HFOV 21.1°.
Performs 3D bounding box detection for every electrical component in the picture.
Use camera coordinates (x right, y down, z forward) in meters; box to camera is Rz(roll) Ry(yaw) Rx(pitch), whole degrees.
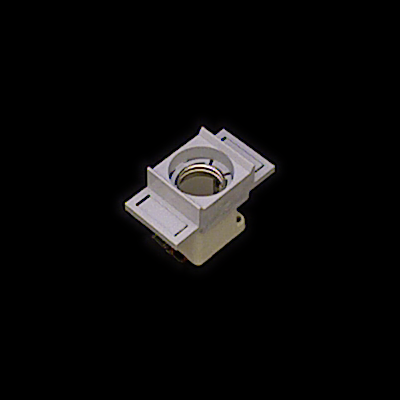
[{"bbox_3d":[0.000,0.000,0.624,0.081,0.064,0.042,-38,62,-26],"label":"electrical component"}]
